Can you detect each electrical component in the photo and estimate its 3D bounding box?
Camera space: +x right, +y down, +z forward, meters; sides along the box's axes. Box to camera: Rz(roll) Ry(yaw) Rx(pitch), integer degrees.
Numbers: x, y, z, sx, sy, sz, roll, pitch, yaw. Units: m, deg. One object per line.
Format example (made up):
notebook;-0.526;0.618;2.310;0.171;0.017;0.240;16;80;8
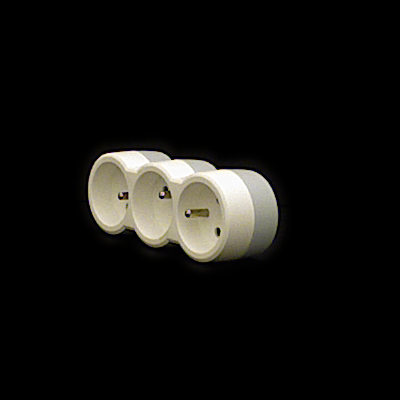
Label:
electrical component;0.000;0.000;0.652;0.074;0.052;0.136;-7;13;-40
